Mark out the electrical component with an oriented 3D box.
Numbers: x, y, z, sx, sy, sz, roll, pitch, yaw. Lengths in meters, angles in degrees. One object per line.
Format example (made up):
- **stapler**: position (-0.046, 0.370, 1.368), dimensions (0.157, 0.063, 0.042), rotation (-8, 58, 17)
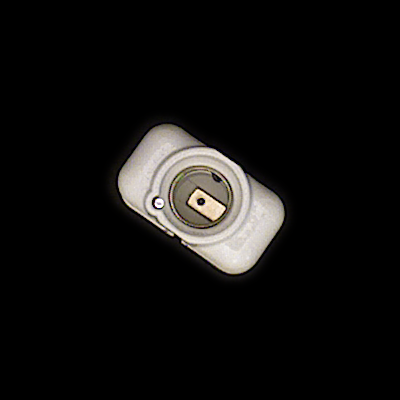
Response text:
- **electrical component**: position (0.000, 0.000, 0.635), dimensions (0.095, 0.054, 0.059), rotation (34, -4, 4)
